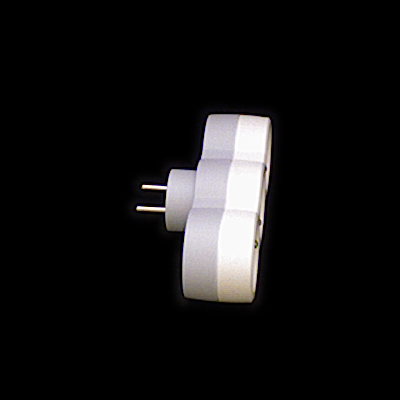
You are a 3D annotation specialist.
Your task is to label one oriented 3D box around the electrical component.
[{"bbox_3d":[0.000,0.000,0.631,0.074,0.052,0.137,4,43,6],"label":"electrical component"}]
